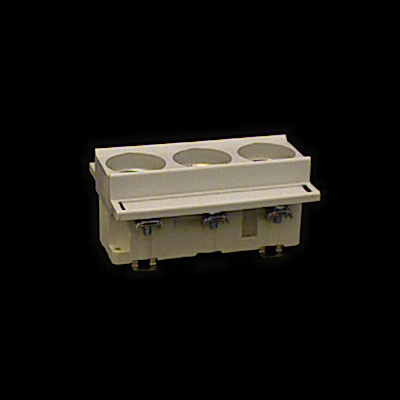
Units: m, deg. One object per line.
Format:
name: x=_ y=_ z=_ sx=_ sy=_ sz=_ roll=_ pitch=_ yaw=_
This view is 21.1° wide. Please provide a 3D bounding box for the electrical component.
electrical component: x=0.000 y=0.000 z=0.651 sx=0.121 sy=0.064 sz=0.077 roll=-5 pitch=24 yaw=-16
